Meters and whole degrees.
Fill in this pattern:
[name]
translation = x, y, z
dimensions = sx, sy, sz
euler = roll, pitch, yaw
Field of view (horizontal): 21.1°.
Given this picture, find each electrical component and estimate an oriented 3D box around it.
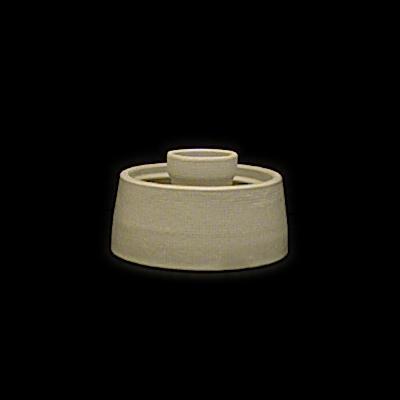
[electrical component]
translation = 0.000, 0.000, 0.650
dimensions = 0.108, 0.061, 0.107
euler = 1, 11, 0
